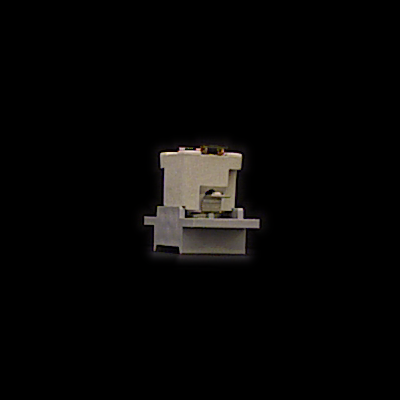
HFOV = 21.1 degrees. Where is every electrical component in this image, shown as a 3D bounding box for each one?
[{"bbox_3d":[0.000,0.000,0.649,0.042,0.064,0.080,1,0,-24],"label":"electrical component"}]
